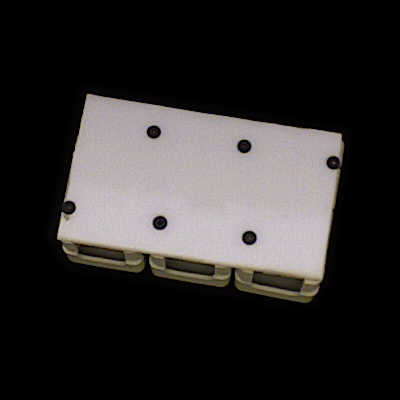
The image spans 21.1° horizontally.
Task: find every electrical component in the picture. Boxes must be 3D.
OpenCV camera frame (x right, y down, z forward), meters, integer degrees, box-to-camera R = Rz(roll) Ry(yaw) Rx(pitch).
[{"bbox_3d":[0.000,0.000,0.631,0.150,0.089,0.062,10,-16,3],"label":"electrical component"}]
